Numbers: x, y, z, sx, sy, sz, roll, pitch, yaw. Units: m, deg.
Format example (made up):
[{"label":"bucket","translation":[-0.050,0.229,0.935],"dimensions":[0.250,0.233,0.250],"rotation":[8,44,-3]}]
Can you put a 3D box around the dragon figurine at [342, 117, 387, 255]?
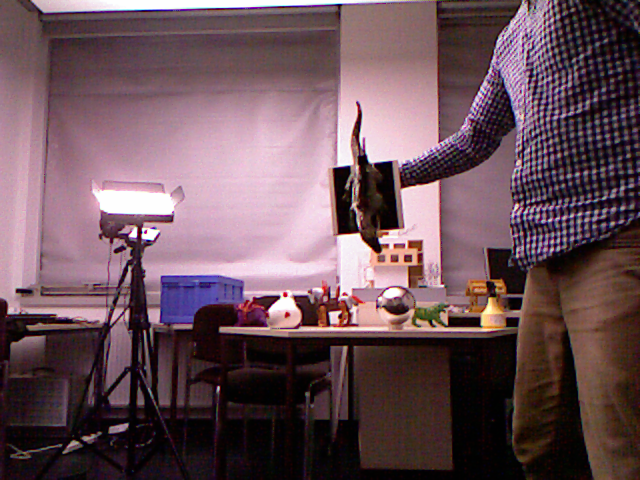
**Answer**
[{"label":"dragon figurine","translation":[0.115,-0.159,1.355],"dimensions":[0.122,0.414,0.241],"rotation":[-8,-8,2]}]
